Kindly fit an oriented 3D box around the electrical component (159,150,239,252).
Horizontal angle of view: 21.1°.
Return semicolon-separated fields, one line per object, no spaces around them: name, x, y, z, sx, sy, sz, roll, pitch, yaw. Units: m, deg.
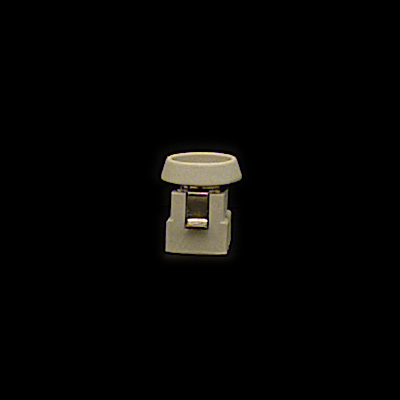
electrical component;0.000;0.000;0.651;0.048;0.056;0.066;0;11;3
